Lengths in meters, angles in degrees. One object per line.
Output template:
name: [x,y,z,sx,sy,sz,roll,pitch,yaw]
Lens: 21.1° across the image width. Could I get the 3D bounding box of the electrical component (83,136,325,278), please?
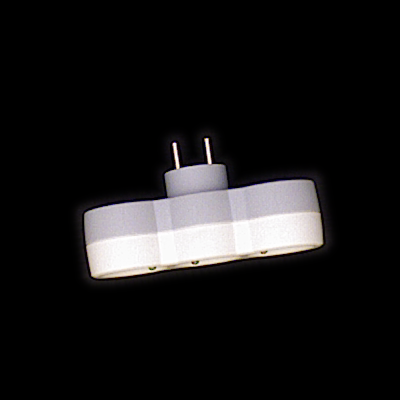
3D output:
electrical component: [0.000,0.000,0.632,0.138,0.074,0.052,-8,-9,0]
